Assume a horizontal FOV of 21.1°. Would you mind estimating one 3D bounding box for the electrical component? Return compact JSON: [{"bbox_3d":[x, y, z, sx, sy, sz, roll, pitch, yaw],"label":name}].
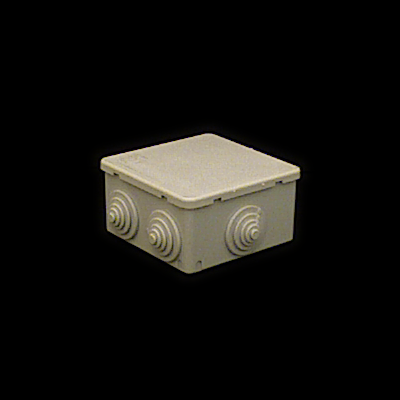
[{"bbox_3d":[0.000,0.000,0.647,0.100,0.049,0.098,-16,28,-37],"label":"electrical component"}]
